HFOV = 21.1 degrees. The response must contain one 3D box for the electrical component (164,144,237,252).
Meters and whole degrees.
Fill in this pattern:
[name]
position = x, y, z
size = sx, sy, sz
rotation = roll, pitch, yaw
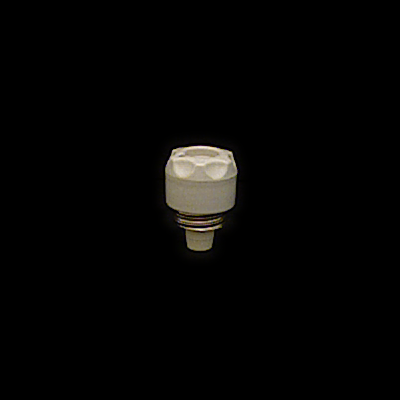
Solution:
[electrical component]
position = 0.000, 0.000, 0.647
size = 0.043, 0.063, 0.043
rotation = 2, 21, 0
